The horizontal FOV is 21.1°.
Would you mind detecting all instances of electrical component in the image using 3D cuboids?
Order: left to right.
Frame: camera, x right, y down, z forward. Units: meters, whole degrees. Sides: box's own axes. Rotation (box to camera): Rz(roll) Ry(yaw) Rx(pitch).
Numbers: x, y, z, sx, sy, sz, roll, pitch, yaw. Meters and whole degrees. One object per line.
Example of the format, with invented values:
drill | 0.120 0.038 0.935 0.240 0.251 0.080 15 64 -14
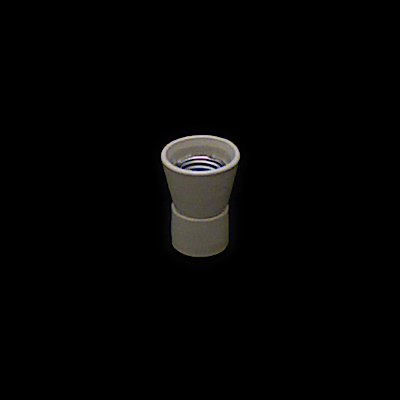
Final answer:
electrical component | 0.000 0.000 0.631 0.044 0.066 0.044 1 32 0
